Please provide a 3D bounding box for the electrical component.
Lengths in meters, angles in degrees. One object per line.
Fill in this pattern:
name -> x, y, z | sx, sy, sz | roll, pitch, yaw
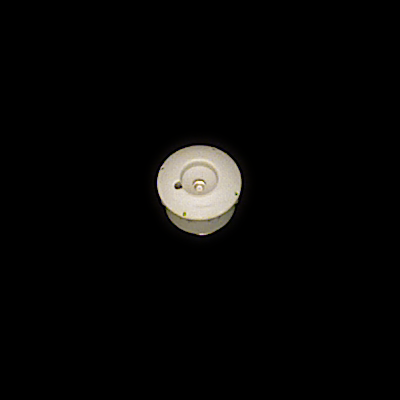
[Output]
electrical component -> 0.000, 0.000, 0.632 | 0.048, 0.048, 0.062 | 0, -27, 0
